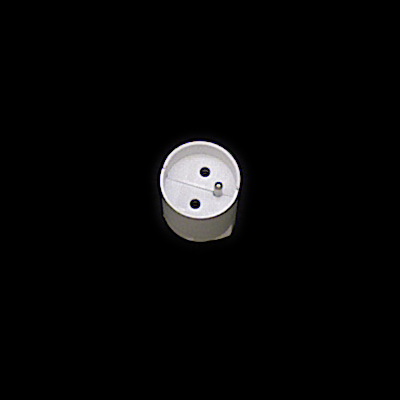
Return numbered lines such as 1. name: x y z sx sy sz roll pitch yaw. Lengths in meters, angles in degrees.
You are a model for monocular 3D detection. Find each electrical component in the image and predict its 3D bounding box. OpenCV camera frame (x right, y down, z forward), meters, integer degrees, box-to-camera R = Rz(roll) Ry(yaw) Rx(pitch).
1. electrical component: 0.000 0.000 0.616 0.043 0.043 0.080 0 -16 -1
